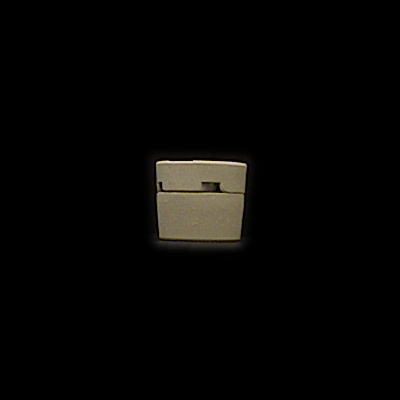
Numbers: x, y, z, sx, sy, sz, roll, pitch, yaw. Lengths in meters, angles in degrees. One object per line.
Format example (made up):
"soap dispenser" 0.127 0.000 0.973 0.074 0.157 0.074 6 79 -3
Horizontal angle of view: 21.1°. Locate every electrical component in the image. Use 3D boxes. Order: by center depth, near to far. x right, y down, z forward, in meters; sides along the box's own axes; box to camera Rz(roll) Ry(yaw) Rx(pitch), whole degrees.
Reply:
"electrical component" 0.000 0.000 0.652 0.055 0.047 0.055 1 1 0
